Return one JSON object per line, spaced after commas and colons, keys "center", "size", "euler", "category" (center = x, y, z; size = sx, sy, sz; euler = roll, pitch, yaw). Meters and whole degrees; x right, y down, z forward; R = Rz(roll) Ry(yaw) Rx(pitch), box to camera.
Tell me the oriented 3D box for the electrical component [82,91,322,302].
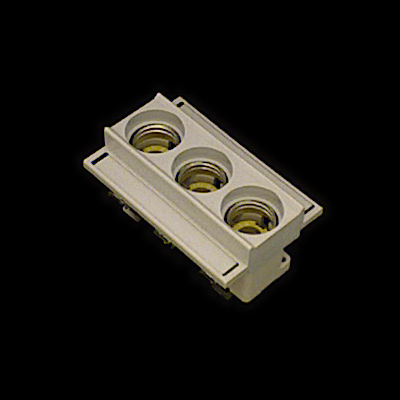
{"center": [0.000, 0.000, 0.640], "size": [0.078, 0.063, 0.120], "euler": [-36, 61, -26], "category": "electrical component"}
